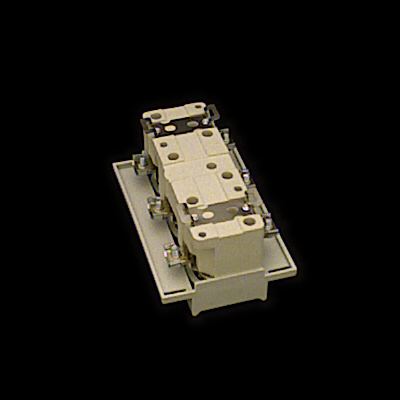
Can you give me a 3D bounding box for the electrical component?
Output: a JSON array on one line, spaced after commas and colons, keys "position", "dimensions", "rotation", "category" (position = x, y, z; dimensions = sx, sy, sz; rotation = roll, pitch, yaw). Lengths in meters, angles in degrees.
[{"position": [0.000, 0.000, 0.636], "dimensions": [0.079, 0.063, 0.119], "rotation": [-12, 44, -12], "category": "electrical component"}]
